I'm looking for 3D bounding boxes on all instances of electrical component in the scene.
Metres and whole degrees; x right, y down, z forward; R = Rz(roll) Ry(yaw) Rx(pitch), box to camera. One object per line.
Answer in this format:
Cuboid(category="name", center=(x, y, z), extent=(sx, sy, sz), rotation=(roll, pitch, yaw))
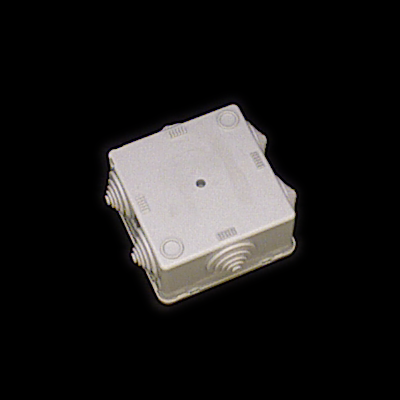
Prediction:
Cuboid(category="electrical component", center=(0.000, 0.000, 0.632), extent=(0.100, 0.099, 0.048), rotation=(-21, -25, -11))
